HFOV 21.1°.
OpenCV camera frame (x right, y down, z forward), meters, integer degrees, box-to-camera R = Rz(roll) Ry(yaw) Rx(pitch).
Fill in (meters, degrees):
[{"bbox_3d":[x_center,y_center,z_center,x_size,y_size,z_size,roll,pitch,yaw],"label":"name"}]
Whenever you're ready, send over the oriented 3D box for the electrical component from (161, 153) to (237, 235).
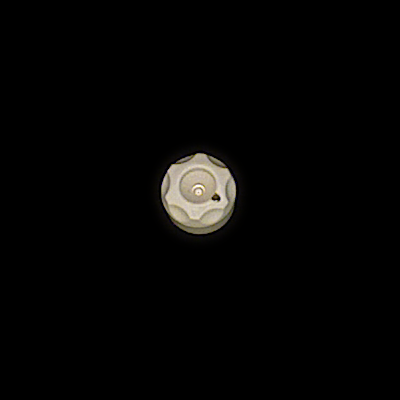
[{"bbox_3d":[0.000,0.000,0.634,0.043,0.043,0.061,0,-16,1],"label":"electrical component"}]
